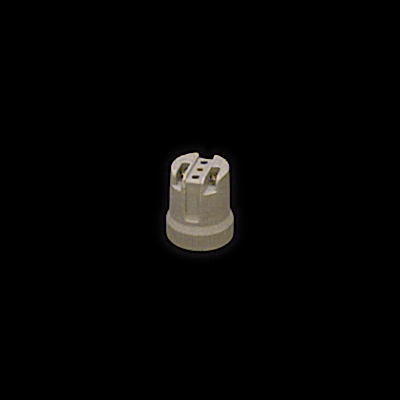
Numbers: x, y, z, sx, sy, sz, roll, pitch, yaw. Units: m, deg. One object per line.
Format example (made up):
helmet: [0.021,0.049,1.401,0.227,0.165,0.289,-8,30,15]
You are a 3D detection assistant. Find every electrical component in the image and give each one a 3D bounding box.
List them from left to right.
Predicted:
electrical component: [0.000,0.000,0.637,0.040,0.046,0.040,1,31,0]
